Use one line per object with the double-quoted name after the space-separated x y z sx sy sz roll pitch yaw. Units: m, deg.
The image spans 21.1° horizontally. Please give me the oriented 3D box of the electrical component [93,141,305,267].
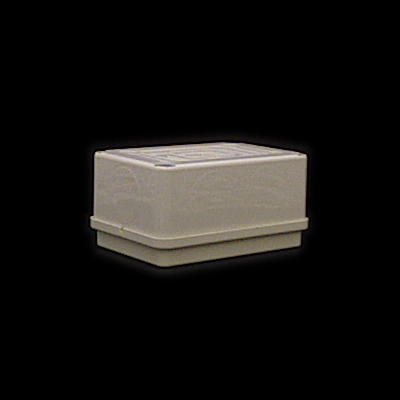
0.000 0.000 0.644 0.113 0.057 0.077 -7 14 -37 "electrical component"
